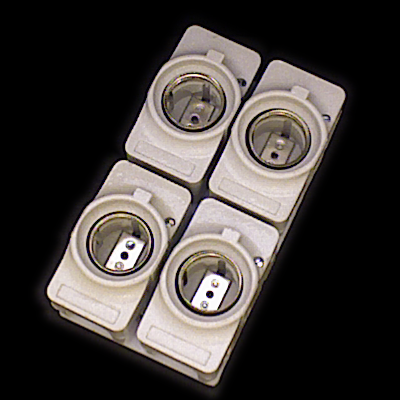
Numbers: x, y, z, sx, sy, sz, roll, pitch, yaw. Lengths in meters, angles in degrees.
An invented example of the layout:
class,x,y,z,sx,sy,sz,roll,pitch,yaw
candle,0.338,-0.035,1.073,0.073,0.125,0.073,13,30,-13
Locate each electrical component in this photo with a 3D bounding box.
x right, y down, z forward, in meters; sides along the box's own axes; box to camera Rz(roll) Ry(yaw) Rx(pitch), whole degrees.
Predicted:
class,x,y,z,sx,sy,sz,roll,pitch,yaw
electrical component,0.000,0.000,0.625,0.105,0.187,0.060,25,-16,7
